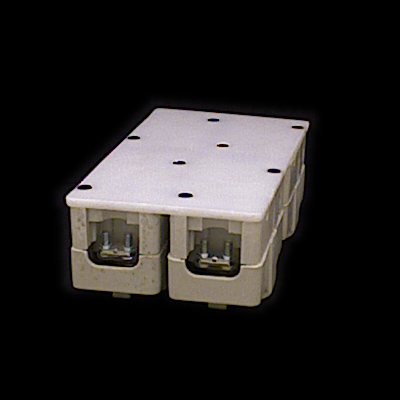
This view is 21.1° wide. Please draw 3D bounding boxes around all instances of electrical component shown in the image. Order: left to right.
[{"bbox_3d":[0.000,0.000,0.638,0.105,0.061,0.184,6,21,11],"label":"electrical component"}]
